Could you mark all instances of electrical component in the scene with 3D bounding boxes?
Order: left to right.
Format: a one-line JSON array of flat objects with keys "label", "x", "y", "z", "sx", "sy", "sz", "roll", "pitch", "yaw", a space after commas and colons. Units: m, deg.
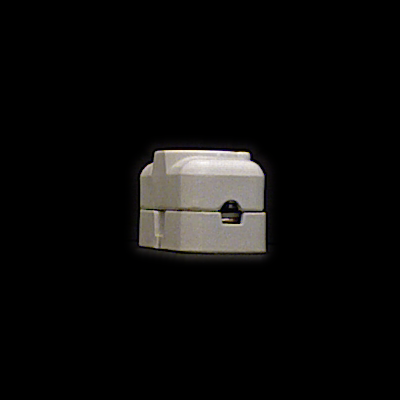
[{"label": "electrical component", "x": 0.000, "y": 0.000, "z": 0.657, "sx": 0.054, "sy": 0.059, "sz": 0.094, "roll": 0, "pitch": 1, "yaw": -24}]
